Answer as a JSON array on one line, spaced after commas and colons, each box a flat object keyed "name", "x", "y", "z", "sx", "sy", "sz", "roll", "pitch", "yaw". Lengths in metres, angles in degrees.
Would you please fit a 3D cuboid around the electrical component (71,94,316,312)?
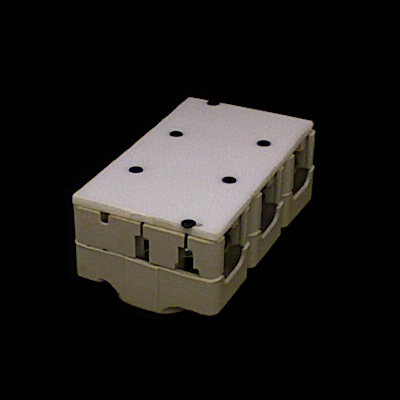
[{"name": "electrical component", "x": 0.000, "y": 0.000, "z": 0.643, "sx": 0.089, "sy": 0.063, "sz": 0.147, "roll": 15, "pitch": 33, "yaw": 21}]
